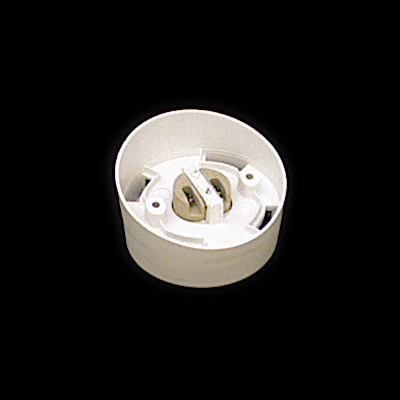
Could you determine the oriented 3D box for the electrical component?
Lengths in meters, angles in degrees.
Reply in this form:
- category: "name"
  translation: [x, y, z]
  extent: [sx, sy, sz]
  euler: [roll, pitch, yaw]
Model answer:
- category: "electrical component"
  translation: [0.000, 0.000, 0.629]
  extent: [0.099, 0.065, 0.098]
  euler: [0, 41, 0]
